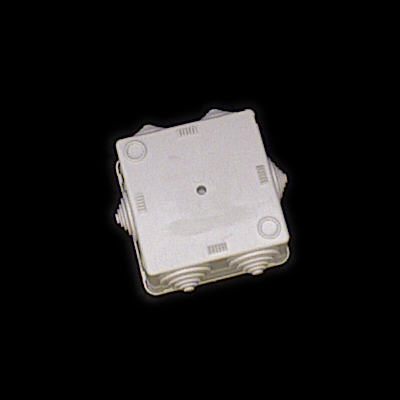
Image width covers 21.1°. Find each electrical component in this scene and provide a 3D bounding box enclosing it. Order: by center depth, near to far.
[{"bbox_3d":[0.000,0.000,0.631,0.100,0.100,0.048,-13,-16,-4],"label":"electrical component"}]
